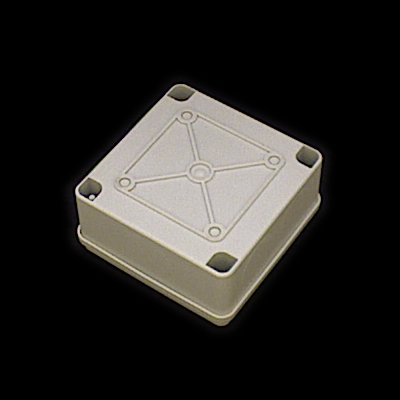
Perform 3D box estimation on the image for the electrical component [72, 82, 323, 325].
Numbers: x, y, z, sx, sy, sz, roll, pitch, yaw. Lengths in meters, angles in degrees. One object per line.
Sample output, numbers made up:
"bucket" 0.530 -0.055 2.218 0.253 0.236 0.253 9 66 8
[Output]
"electrical component" 0.000 0.000 0.628 0.108 0.109 0.056 28 -32 20
